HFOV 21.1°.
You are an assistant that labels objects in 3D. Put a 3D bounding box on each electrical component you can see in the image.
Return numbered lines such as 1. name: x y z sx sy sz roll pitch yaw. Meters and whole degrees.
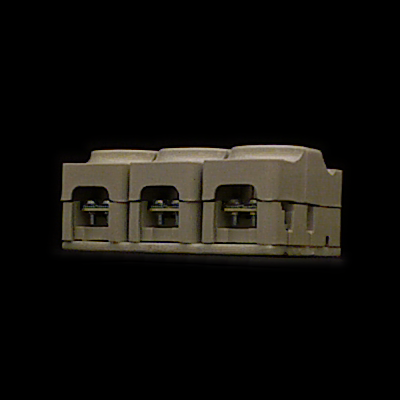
1. electrical component: 0.000 0.000 0.658 0.150 0.062 0.090 1 -1 32
